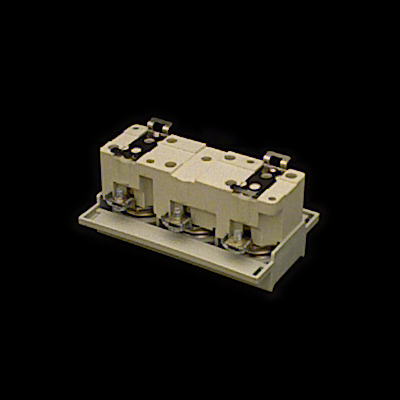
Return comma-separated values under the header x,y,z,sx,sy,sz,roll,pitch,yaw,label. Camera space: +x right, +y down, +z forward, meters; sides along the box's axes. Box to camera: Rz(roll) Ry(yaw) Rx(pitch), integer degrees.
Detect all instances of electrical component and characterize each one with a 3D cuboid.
x,y,z,sx,sy,sz,roll,pitch,yaw,label
0.000,0.000,0.638,0.120,0.064,0.078,18,36,25,electrical component
